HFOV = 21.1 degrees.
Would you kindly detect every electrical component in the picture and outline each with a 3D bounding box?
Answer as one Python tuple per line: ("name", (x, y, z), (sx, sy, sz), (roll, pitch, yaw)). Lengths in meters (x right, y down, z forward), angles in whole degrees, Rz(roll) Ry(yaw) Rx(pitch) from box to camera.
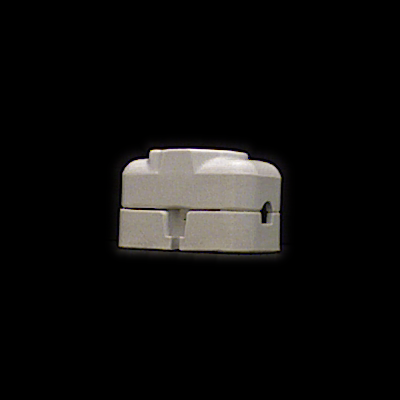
("electrical component", (0.000, 0.000, 0.655), (0.094, 0.059, 0.054), (1, 1, 31))
